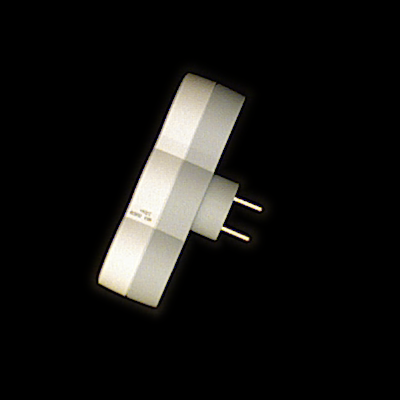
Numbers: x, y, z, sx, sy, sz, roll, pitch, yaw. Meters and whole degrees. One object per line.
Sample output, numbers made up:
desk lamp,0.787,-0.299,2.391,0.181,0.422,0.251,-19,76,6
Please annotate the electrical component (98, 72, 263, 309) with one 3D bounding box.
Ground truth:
electrical component,0.000,0.000,0.639,0.074,0.138,0.052,23,-5,1
